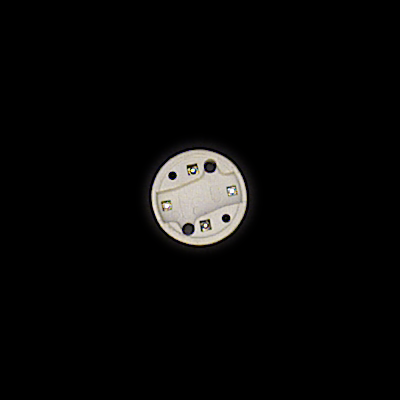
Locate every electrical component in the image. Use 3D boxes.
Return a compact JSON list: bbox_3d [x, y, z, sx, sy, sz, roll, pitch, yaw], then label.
[{"bbox_3d":[0.000,0.000,0.636,0.055,0.056,0.047,0,-7,0],"label":"electrical component"}]
